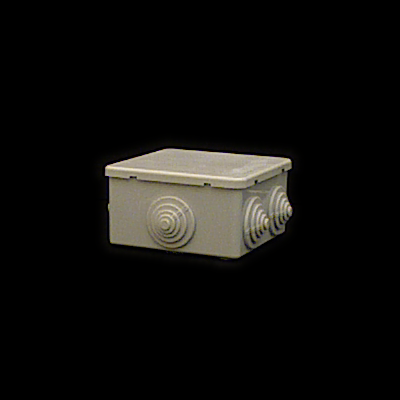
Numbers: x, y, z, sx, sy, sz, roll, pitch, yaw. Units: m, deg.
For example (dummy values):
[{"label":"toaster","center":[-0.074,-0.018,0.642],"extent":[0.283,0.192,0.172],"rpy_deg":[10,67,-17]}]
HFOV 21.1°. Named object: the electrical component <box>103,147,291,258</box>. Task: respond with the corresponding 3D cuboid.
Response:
[{"label":"electrical component","center":[0.000,0.000,0.651],"extent":[0.099,0.049,0.100],"rpy_deg":[6,12,23]}]
